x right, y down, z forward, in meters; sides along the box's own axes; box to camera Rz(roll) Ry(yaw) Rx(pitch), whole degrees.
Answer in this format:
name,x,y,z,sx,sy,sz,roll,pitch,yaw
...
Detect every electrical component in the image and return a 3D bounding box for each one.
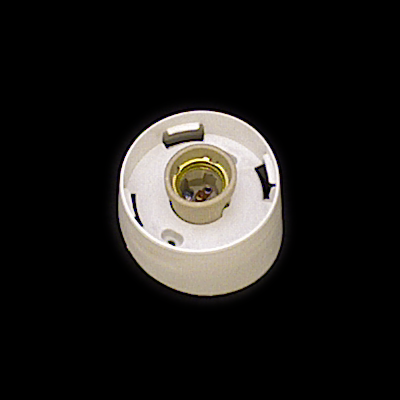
name,x,y,z,sx,sy,sz,roll,pitch,yaw
electrical component,0.000,0.000,0.625,0.099,0.099,0.064,0,-27,-1
